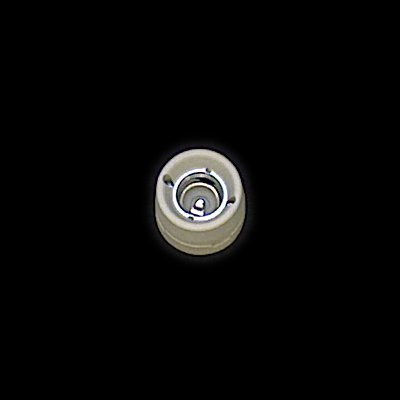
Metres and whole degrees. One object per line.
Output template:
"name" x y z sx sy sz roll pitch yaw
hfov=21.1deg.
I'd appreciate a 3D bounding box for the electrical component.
"electrical component" 0.000 0.000 0.633 0.055 0.056 0.047 0 -17 1
